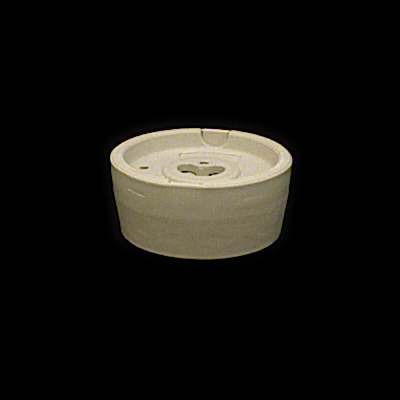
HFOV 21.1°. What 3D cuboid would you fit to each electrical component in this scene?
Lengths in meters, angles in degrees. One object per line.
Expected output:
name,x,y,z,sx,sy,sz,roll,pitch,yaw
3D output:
electrical component,0.000,0.000,0.649,0.108,0.061,0.106,1,22,0
